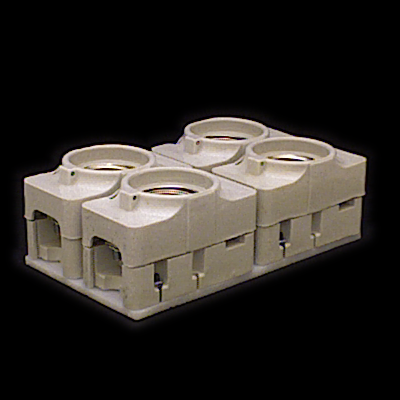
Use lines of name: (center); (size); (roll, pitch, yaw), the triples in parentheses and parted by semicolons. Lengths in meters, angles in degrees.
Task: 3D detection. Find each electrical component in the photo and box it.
electrical component: (0.000, 0.000, 0.637); (0.186, 0.061, 0.104); (-17, 27, -39)
